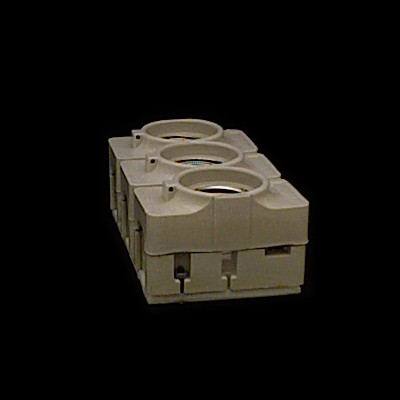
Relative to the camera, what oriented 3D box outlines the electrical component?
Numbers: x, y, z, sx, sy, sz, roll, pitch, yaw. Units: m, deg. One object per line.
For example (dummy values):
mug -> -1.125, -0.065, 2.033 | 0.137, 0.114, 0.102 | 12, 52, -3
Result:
electrical component -> 0.000, 0.000, 0.644 | 0.090, 0.063, 0.147 | -4, 20, -12
